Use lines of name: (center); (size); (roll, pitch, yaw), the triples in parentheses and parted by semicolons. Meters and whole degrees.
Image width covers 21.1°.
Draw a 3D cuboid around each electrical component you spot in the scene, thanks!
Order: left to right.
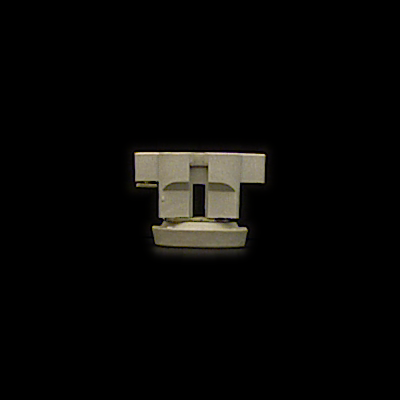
electrical component: (0.000, 0.000, 0.655); (0.078, 0.057, 0.058); (0, 2, 0)
